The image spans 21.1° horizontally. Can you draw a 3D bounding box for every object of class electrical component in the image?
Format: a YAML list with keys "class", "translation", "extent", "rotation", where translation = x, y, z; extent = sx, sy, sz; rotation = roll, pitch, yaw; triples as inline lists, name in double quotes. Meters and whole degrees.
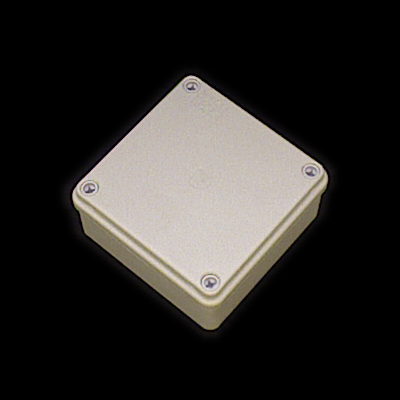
- class: "electrical component"
  translation: [0.000, 0.000, 0.628]
  extent: [0.108, 0.109, 0.056]
  rotation: [37, -21, 17]
